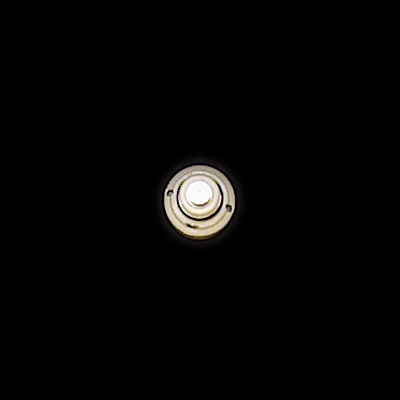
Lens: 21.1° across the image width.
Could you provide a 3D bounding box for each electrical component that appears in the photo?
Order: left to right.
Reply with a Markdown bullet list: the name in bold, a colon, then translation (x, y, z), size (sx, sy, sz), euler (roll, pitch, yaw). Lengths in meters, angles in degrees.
- **electrical component**: translation (0.000, 0.000, 0.618), size (0.040, 0.040, 0.078), euler (0, -6, -1)
